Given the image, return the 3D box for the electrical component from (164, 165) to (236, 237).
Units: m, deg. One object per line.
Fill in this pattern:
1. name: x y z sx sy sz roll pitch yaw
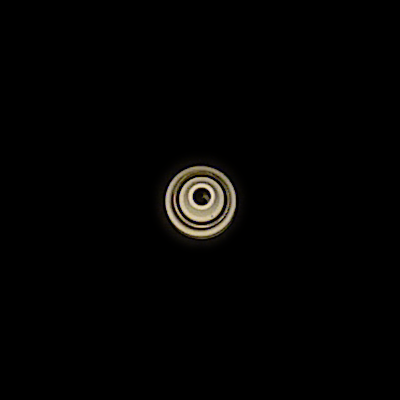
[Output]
1. electrical component: 0.000 0.000 0.635 0.043 0.043 0.062 0 -5 0
